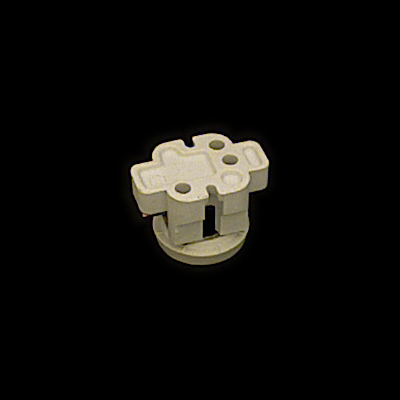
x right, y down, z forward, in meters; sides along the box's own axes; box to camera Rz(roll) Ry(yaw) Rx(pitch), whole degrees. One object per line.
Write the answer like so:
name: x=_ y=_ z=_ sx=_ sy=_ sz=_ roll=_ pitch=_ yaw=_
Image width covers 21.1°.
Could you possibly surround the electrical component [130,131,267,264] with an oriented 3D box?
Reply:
electrical component: x=0.000 y=0.000 z=0.637 sx=0.079 sy=0.057 sz=0.057 roll=-14 pitch=45 yaw=-13
